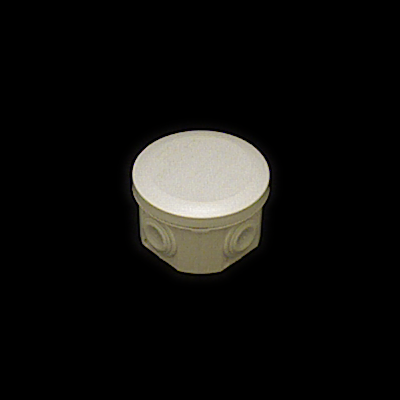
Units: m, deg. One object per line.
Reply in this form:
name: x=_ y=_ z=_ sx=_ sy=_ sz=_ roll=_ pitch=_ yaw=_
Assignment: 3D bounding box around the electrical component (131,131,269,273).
electrical component: x=0.000 y=0.000 z=0.635 sx=0.080 sy=0.051 sz=0.079 roll=1 pitch=42 yaw=0
